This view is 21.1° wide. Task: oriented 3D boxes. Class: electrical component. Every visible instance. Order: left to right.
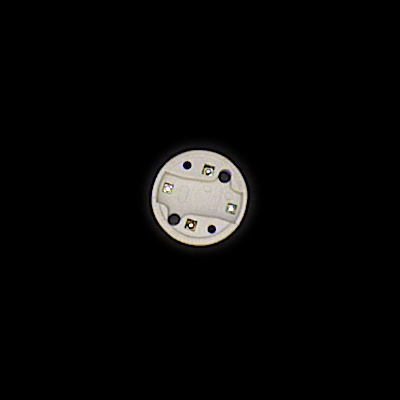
[{"bbox_3d":[0.000,0.000,0.636,0.055,0.055,0.047,0,-7,0],"label":"electrical component"}]
